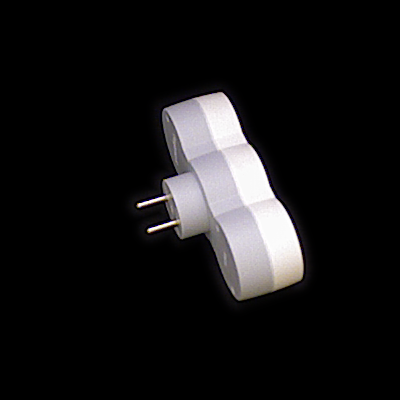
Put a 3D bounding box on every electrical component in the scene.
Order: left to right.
[{"bbox_3d":[0.000,0.000,0.630,0.074,0.138,0.052,-17,-34,-11],"label":"electrical component"}]
